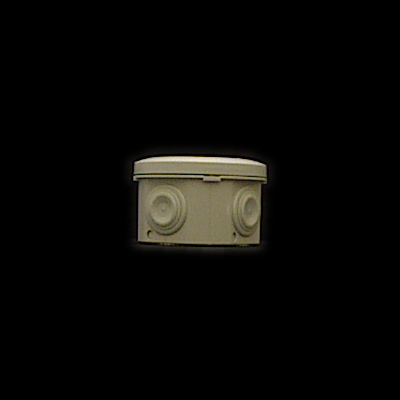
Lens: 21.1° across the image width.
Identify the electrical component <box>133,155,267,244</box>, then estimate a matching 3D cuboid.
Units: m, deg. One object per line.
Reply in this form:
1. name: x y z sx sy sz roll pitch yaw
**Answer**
1. electrical component: 0.000 0.000 0.647 0.080 0.051 0.080 1 0 0
